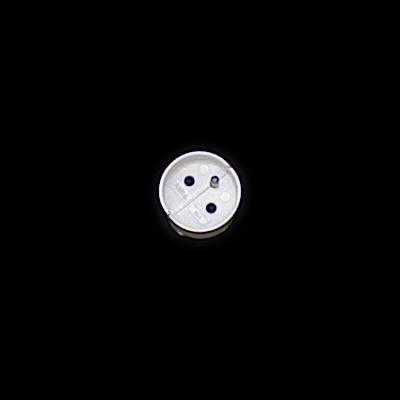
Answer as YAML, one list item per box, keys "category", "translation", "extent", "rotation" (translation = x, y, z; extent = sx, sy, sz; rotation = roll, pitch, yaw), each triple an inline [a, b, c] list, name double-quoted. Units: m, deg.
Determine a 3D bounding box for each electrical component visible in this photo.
- category: "electrical component"
  translation: [0.000, 0.000, 0.616]
  extent: [0.043, 0.043, 0.080]
  rotation: [0, -6, -1]
